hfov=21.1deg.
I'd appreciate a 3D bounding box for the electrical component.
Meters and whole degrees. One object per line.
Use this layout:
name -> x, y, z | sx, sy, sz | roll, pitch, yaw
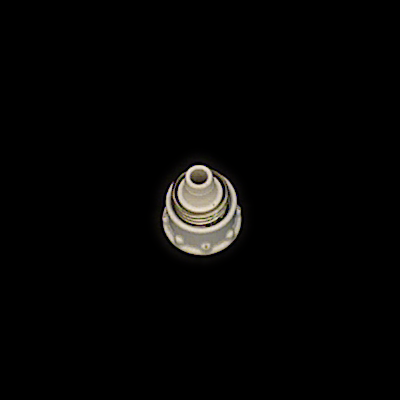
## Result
electrical component -> 0.000, 0.000, 0.633 | 0.048, 0.048, 0.062 | 0, -28, 1
